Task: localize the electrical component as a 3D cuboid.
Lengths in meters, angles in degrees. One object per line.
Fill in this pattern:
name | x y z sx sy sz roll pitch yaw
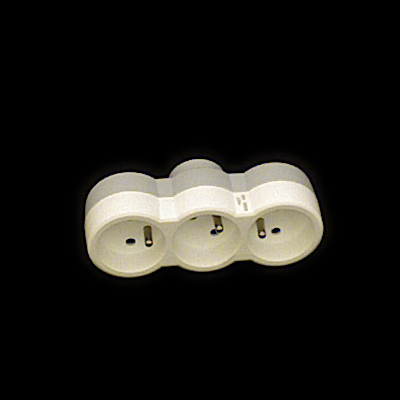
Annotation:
electrical component | 0.000 0.000 0.643 0.138 0.053 0.073 -4 41 -6
